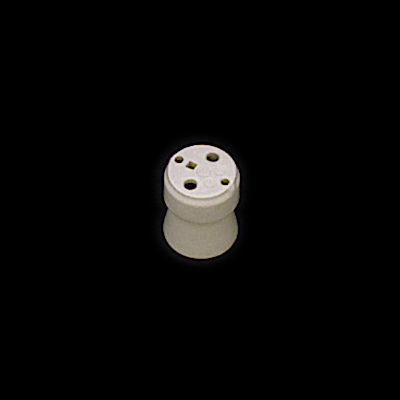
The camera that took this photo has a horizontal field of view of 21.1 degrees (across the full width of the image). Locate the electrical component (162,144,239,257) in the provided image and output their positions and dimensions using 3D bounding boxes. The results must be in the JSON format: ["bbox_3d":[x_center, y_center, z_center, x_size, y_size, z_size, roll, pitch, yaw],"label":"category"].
[{"bbox_3d":[0.000,0.000,0.631,0.045,0.044,0.055,0,-37,-1],"label":"electrical component"}]
